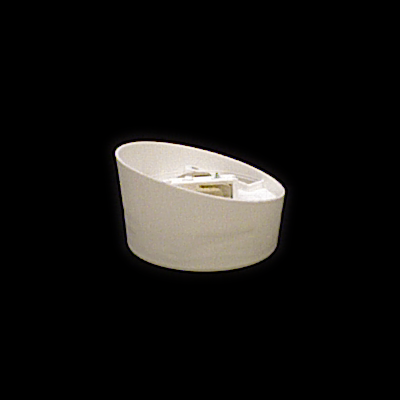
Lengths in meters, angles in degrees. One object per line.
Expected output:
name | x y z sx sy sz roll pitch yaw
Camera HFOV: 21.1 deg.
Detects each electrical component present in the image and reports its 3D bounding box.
electrical component | 0.000 0.000 0.636 0.099 0.065 0.097 0 21 0
